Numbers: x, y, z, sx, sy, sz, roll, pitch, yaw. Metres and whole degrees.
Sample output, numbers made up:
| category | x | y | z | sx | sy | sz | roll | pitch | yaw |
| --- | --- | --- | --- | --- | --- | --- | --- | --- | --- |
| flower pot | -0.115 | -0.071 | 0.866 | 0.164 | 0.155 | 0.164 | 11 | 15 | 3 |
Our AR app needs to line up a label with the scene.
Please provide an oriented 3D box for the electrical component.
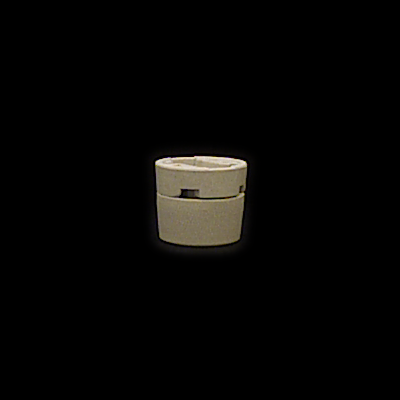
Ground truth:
| category | x | y | z | sx | sy | sz | roll | pitch | yaw |
| --- | --- | --- | --- | --- | --- | --- | --- | --- | --- |
| electrical component | 0.000 | 0.000 | 0.646 | 0.055 | 0.047 | 0.055 | 2 | 11 | 0 |
